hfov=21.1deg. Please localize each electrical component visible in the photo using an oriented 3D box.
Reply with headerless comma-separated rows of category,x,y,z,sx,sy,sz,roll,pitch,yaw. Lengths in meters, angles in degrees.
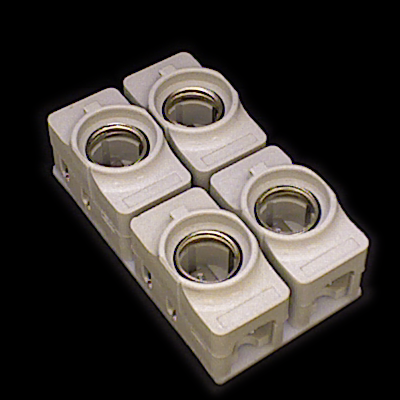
electrical component,0.000,0.000,0.627,0.106,0.185,0.060,-28,-32,-20
